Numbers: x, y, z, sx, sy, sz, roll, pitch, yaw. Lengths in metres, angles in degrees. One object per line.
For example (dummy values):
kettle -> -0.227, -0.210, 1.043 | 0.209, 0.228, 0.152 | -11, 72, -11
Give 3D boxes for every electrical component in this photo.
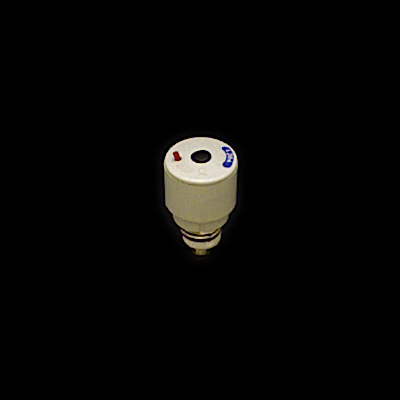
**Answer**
electrical component -> 0.000, 0.000, 0.624 | 0.040, 0.079, 0.039 | 0, 42, 0
